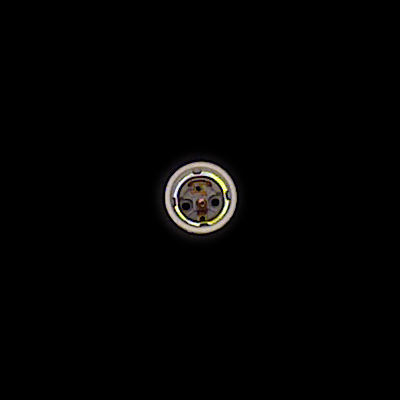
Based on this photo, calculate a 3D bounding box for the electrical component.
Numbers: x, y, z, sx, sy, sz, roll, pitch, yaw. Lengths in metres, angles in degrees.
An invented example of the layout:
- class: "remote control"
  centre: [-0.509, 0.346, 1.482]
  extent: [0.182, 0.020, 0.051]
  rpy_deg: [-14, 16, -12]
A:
- class: "electrical component"
  centre: [0.000, 0.000, 0.627]
  extent: [0.040, 0.040, 0.046]
  rpy_deg: [0, -6, 0]
